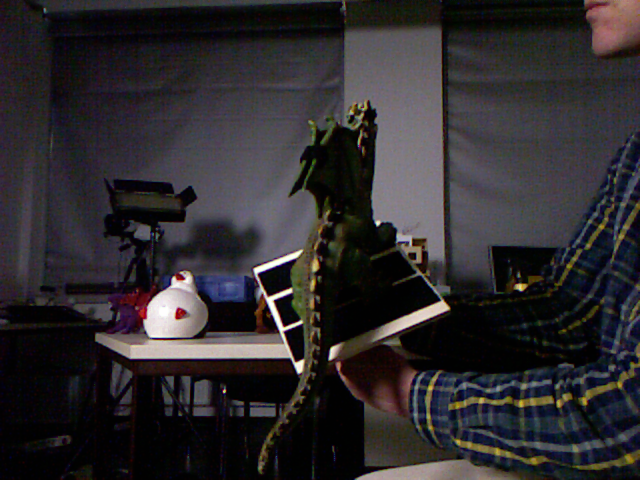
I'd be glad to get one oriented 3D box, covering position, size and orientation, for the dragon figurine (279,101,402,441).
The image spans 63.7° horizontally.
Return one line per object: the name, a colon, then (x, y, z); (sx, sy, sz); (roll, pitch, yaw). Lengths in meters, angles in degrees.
dragon figurine: (0.011, -0.014, 0.589); (0.122, 0.421, 0.237); (3, -44, 18)
